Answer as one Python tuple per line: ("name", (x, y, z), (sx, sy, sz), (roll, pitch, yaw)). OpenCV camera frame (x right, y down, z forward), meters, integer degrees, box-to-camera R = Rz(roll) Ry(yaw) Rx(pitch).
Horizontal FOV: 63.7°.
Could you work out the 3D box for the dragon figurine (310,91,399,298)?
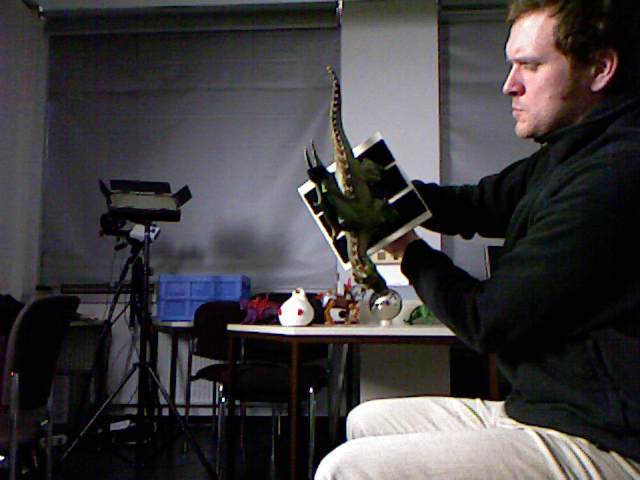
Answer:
("dragon figurine", (0.047, -0.095, 0.923), (0.122, 0.414, 0.244), (-20, -5, 17))
